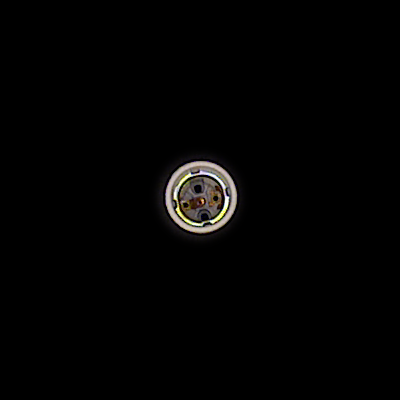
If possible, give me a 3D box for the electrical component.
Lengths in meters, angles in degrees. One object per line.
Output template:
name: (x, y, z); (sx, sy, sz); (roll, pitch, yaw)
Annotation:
electrical component: (0.000, 0.000, 0.627); (0.040, 0.040, 0.046); (0, -6, 0)
